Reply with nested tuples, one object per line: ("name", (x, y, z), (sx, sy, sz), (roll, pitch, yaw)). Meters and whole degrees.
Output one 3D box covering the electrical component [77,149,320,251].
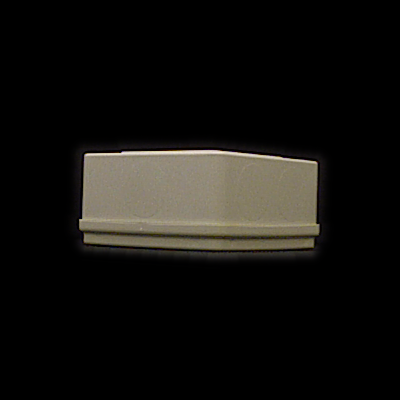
("electrical component", (0.000, 0.000, 0.651), (0.108, 0.056, 0.109), (2, 0, 38))
